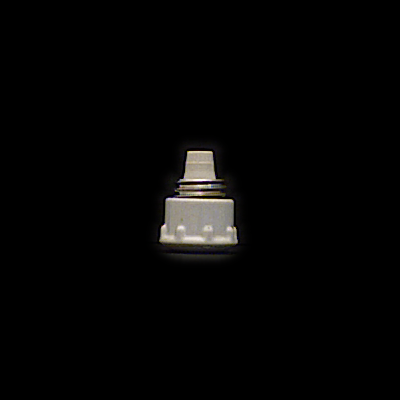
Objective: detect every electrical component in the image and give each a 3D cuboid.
[{"bbox_3d":[0.000,0.000,0.654,0.048,0.062,0.048,1,3,0],"label":"electrical component"}]
